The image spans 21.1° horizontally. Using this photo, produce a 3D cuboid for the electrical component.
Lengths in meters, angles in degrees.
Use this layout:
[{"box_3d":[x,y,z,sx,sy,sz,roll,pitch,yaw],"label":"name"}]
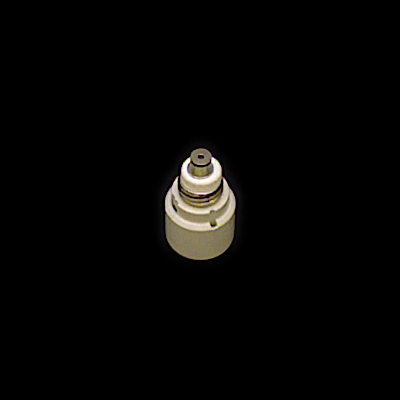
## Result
[{"box_3d":[0.000,0.000,0.622,0.040,0.040,0.079,0,-37,-1],"label":"electrical component"}]
